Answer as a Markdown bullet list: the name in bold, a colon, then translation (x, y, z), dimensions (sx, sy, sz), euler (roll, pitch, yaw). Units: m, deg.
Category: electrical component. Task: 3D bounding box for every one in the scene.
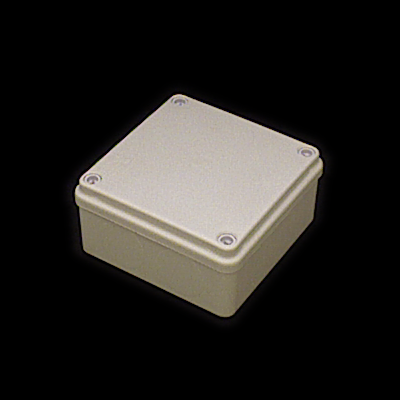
- **electrical component**: translation (0.000, 0.000, 0.632), dimensions (0.108, 0.056, 0.108), euler (24, 47, 23)
